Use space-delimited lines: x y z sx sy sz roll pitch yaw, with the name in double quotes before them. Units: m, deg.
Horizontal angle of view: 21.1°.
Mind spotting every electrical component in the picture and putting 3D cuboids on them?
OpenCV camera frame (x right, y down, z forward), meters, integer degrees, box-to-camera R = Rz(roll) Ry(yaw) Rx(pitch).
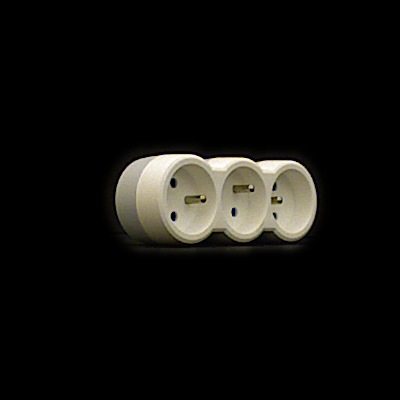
"electrical component" 0.000 0.000 0.660 0.073 0.052 0.140 0 0 45
